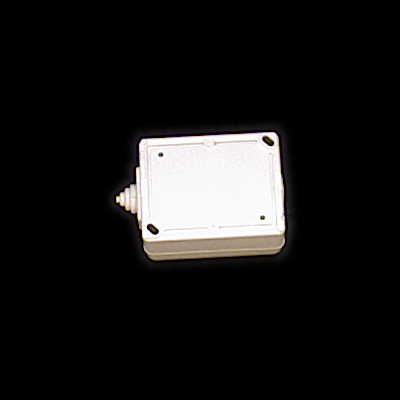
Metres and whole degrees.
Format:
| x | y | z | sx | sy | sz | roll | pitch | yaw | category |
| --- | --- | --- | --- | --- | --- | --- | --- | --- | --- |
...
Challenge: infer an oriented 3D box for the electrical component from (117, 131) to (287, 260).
| x | y | z | sx | sy | sz | roll | pitch | yaw | category |
| --- | --- | --- | --- | --- | --- | --- | --- | --- | --- |
| 0.000 | 0.000 | 0.629 | 0.096 | 0.062 | 0.060 | -3 | -17 | 0 | electrical component |
